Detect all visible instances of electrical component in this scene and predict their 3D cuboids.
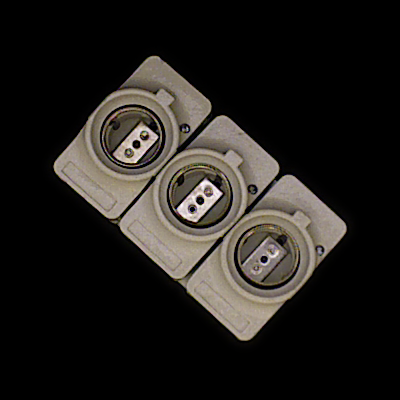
[{"bbox_3d":[0.000,0.000,0.632,0.150,0.089,0.061,42,-5,4],"label":"electrical component"}]
